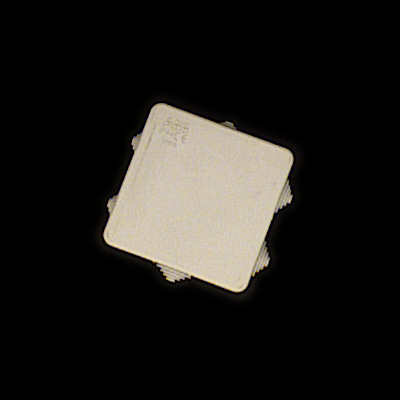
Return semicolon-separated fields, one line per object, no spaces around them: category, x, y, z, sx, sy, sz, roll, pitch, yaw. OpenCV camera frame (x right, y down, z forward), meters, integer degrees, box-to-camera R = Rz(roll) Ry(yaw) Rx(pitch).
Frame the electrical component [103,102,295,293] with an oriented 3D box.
electrical component;0.000;0.000;0.642;0.100;0.100;0.048;21;-6;2
